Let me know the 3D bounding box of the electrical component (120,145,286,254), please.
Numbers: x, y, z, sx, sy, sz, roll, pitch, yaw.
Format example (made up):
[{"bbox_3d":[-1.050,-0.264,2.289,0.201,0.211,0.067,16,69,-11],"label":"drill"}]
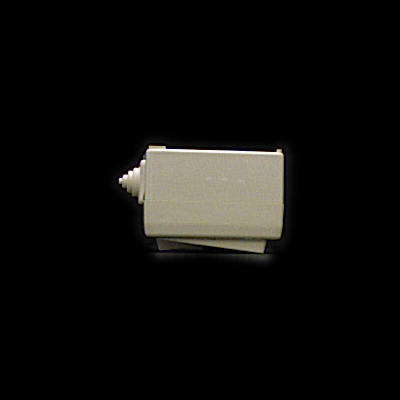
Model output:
[{"bbox_3d":[0.000,0.000,0.647,0.096,0.061,0.061,2,1,-5],"label":"electrical component"}]
